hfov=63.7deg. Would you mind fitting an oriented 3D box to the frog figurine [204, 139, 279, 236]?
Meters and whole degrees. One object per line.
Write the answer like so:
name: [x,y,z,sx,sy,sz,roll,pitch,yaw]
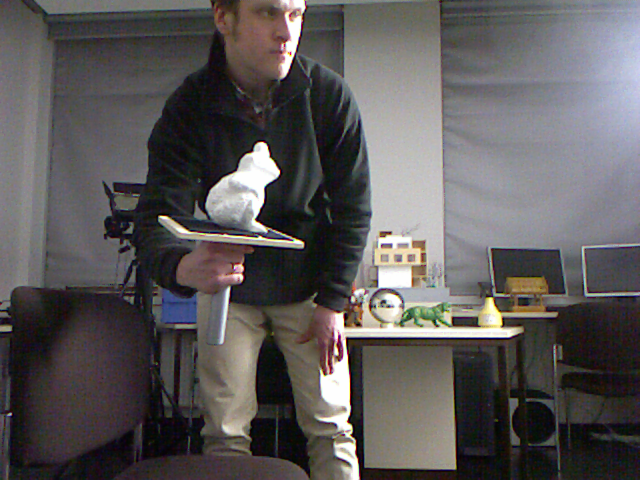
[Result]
frog figurine: [-0.136,-0.098,0.898,0.123,0.158,0.139,7,9,-6]
